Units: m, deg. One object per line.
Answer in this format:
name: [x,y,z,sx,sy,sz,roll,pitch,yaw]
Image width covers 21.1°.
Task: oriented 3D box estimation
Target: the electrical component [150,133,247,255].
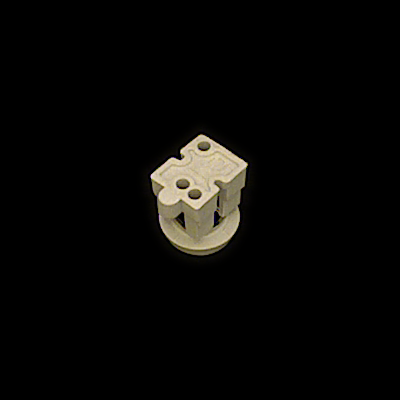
electrical component: [0.000,0.000,0.637,0.048,0.055,0.067,35,59,24]
